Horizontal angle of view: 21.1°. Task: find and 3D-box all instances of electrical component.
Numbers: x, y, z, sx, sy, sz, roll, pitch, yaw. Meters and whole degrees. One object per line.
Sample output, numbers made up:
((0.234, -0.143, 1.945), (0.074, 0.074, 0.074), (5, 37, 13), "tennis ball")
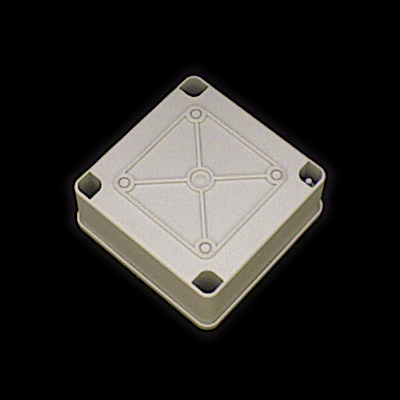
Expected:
((0.000, 0.000, 0.629), (0.108, 0.109, 0.056), (38, -21, 17), "electrical component")
